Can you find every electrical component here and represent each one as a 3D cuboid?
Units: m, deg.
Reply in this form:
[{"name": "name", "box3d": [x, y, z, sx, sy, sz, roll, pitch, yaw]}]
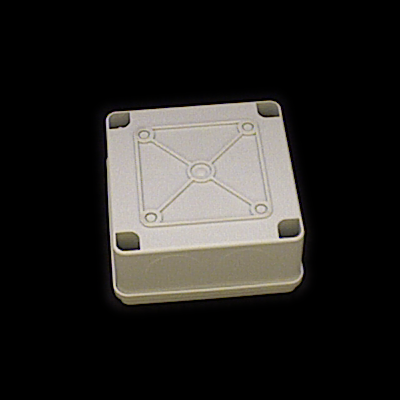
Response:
[{"name": "electrical component", "box3d": [0.000, 0.000, 0.629, 0.109, 0.108, 0.056, -4, -38, -3]}]
